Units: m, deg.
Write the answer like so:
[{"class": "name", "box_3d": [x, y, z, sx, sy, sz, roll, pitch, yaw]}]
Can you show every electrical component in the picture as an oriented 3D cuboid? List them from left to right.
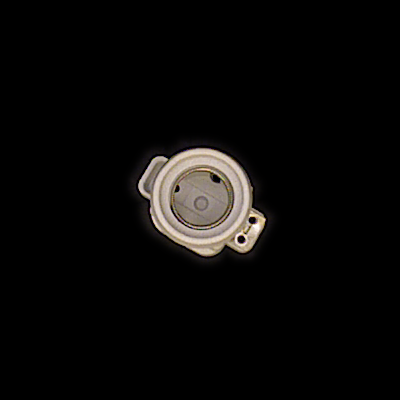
[{"class": "electrical component", "box_3d": [0.000, 0.000, 0.630, 0.078, 0.058, 0.056, 30, -5, 3]}]
